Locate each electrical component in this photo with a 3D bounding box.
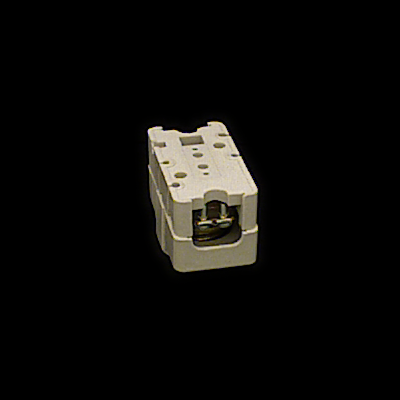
[{"bbox_3d":[0.000,0.000,0.642,0.050,0.056,0.088,-7,32,-11],"label":"electrical component"}]
